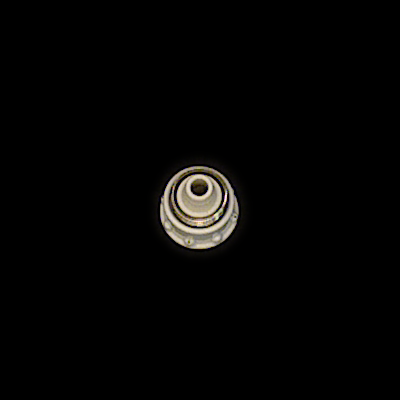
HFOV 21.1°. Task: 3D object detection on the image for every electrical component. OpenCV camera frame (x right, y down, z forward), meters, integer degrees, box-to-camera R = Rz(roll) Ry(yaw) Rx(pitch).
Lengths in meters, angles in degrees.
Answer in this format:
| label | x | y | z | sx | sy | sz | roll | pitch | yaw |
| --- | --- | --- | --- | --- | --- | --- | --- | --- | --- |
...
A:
| label | x | y | z | sx | sy | sz | roll | pitch | yaw |
| --- | --- | --- | --- | --- | --- | --- | --- | --- | --- |
| electrical component | 0.000 | 0.000 | 0.633 | 0.048 | 0.048 | 0.061 | 0 | -15 | 0 |
